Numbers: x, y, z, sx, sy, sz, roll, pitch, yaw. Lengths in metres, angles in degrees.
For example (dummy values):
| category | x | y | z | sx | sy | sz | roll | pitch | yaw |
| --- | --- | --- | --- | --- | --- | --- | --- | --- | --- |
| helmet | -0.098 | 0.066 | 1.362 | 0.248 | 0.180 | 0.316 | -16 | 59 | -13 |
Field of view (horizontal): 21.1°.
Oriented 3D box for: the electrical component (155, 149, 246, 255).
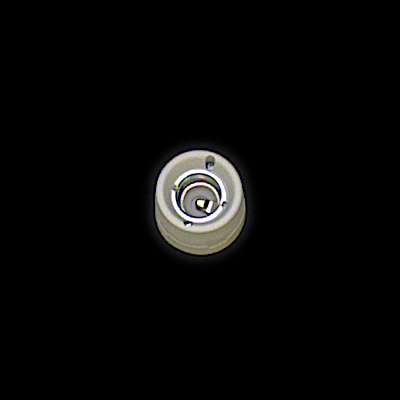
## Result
| category | x | y | z | sx | sy | sz | roll | pitch | yaw |
| --- | --- | --- | --- | --- | --- | --- | --- | --- | --- |
| electrical component | 0.000 | 0.000 | 0.632 | 0.055 | 0.056 | 0.047 | 0 | -16 | 1 |
